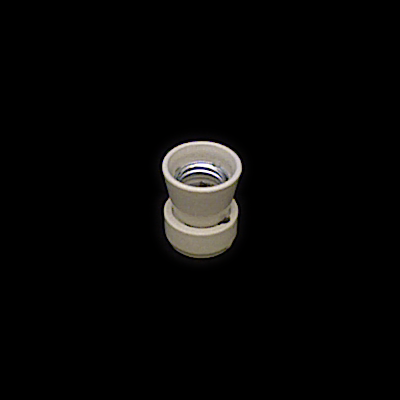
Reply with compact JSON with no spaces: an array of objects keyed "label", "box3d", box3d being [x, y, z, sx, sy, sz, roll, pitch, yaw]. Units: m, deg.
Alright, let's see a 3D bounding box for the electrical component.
[{"label":"electrical component","box3d":[0.000,0.000,0.633,0.045,0.056,0.044,1,42,-1]}]
